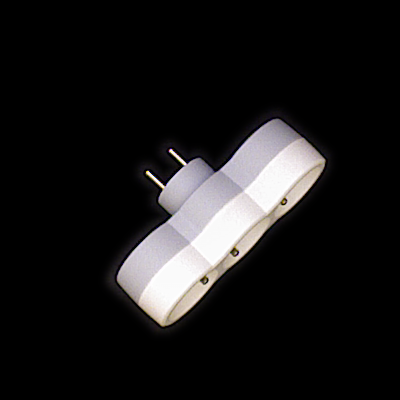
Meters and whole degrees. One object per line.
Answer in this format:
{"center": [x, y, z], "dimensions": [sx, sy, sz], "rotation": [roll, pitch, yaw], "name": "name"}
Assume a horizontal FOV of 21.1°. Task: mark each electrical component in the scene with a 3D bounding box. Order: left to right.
{"center": [0.000, 0.000, 0.629], "dimensions": [0.074, 0.139, 0.052], "rotation": [43, -12, 14], "name": "electrical component"}
